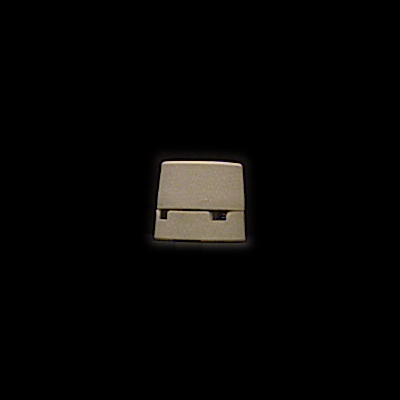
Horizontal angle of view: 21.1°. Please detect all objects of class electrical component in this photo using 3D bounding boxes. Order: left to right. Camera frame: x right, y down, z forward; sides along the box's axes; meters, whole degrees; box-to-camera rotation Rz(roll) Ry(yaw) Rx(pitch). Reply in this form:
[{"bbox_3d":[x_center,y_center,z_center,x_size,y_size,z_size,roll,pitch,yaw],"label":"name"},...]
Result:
[{"bbox_3d":[0.001,0.000,0.652,0.055,0.047,0.055,2,0,0],"label":"electrical component"}]
